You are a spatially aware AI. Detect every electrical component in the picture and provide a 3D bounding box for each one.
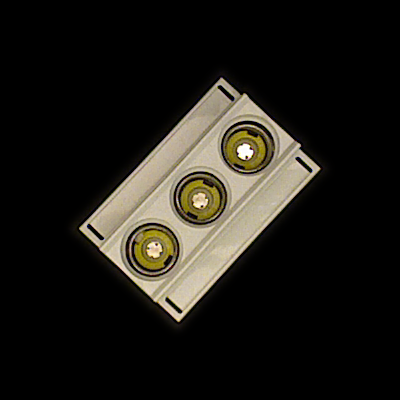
[{"bbox_3d":[0.000,0.000,0.637,0.079,0.121,0.063,43,-4,3],"label":"electrical component"}]
